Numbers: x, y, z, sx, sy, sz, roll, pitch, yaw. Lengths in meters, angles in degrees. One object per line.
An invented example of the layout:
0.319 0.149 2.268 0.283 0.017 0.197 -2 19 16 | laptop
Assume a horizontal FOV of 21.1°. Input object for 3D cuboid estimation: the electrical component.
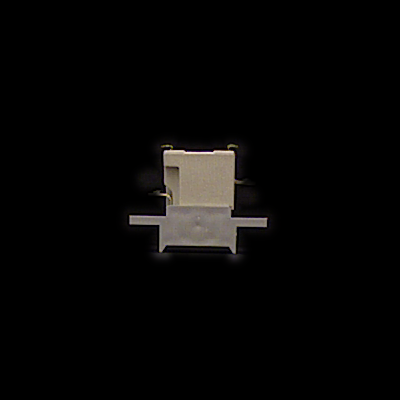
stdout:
0.000 0.000 0.649 0.081 0.064 0.042 2 1 1 | electrical component
